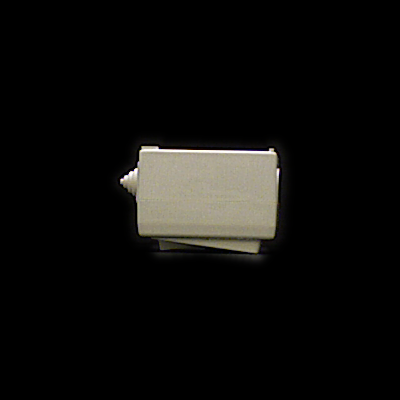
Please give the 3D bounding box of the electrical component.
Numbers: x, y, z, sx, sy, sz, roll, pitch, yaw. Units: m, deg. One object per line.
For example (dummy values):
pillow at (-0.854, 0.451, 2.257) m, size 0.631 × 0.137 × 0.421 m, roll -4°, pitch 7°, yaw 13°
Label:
electrical component at (0.000, 0.000, 0.648) m, size 0.096 × 0.061 × 0.062 m, roll 2°, pitch 1°, yaw 5°
